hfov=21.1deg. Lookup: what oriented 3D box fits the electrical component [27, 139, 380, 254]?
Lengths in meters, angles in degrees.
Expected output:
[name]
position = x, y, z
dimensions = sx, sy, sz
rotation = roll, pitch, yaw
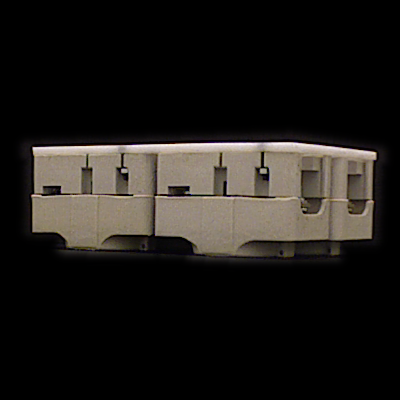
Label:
[electrical component]
position = 0.000, 0.000, 0.649
dimensions = 0.186, 0.060, 0.106
rotation = 1, -1, 35
